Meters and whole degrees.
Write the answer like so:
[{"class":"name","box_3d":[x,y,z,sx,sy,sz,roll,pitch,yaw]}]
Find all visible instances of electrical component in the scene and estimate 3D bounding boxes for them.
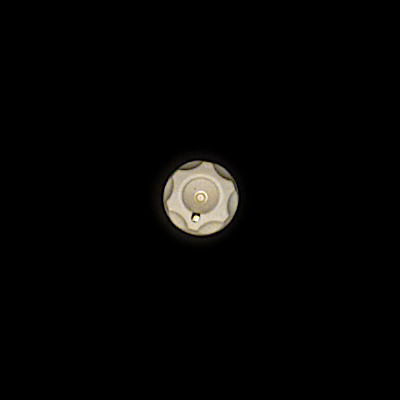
[{"class":"electrical component","box_3d":[0.000,0.000,0.635,0.043,0.043,0.062,0,-6,1]}]
